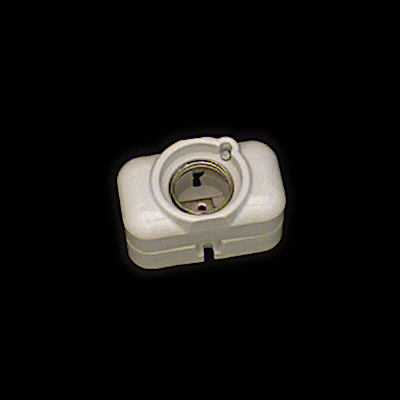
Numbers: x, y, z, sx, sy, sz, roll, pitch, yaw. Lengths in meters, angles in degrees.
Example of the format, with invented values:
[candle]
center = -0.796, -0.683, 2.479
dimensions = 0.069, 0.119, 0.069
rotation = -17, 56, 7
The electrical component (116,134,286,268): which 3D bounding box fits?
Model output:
[electrical component]
center = 0.000, 0.000, 0.635
dimensions = 0.095, 0.053, 0.059
rotation = -9, -26, -5
